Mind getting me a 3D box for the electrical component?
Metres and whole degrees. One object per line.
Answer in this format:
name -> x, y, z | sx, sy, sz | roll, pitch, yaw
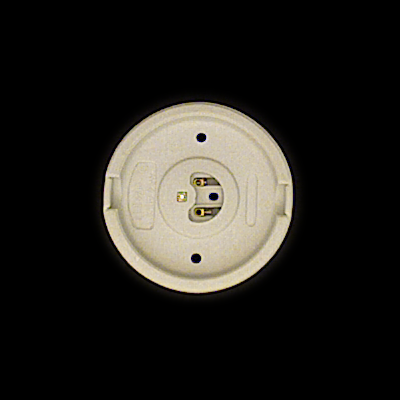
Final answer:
electrical component -> 0.000, 0.000, 0.634 | 0.108, 0.108, 0.060 | 0, -6, 0
